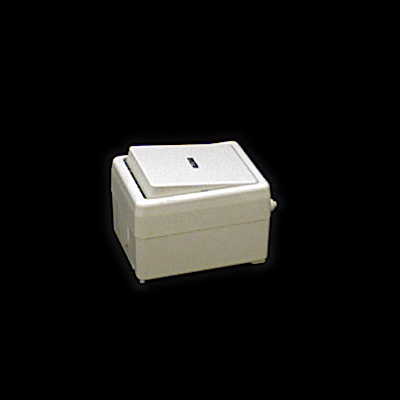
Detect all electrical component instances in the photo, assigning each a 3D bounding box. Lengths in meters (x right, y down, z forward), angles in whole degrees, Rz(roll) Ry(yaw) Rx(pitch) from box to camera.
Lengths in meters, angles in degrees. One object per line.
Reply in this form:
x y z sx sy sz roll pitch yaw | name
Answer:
0.000 0.000 0.634 0.096 0.061 0.061 -9 32 -16 | electrical component
